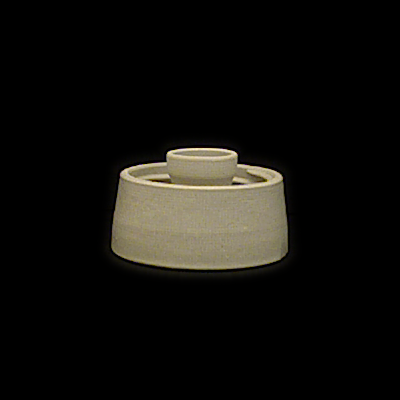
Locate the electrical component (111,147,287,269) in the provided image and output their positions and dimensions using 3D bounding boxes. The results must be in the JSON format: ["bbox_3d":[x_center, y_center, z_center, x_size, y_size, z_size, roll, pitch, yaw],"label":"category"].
[{"bbox_3d":[0.000,0.000,0.651,0.108,0.061,0.107,1,11,0],"label":"electrical component"}]
